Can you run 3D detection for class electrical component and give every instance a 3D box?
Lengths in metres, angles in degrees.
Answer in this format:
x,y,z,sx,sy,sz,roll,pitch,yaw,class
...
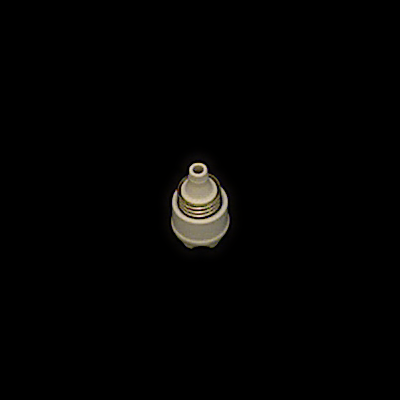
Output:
x,y,z,sx,sy,sz,roll,pitch,yaw,class
0.000,0.000,0.638,0.035,0.035,0.062,0,-38,2,electrical component
